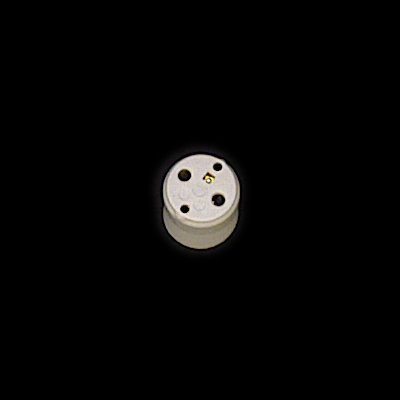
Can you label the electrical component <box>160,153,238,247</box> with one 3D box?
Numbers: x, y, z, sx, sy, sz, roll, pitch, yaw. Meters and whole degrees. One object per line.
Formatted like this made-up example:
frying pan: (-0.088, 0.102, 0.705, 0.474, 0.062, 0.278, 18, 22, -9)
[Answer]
electrical component: (0.000, 0.000, 0.628, 0.045, 0.045, 0.055, 0, -16, 0)
